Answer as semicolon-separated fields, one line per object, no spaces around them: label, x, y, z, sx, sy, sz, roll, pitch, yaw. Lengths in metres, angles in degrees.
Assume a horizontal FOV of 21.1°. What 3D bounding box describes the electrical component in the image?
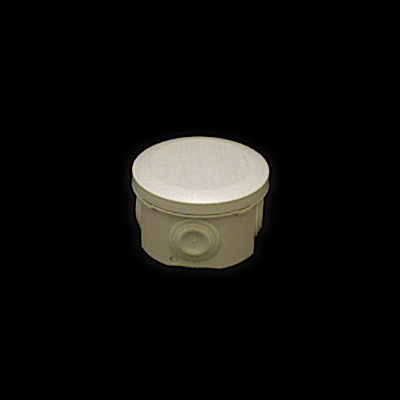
electrical component;0.000;0.000;0.634;0.080;0.051;0.079;1;31;0
